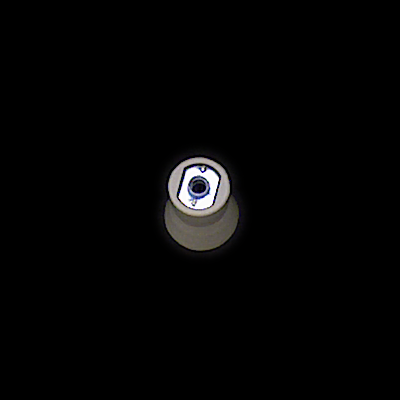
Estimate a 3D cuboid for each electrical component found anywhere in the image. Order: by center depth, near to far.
[{"bbox_3d":[0.000,0.000,0.625,0.044,0.044,0.065,0,-17,1],"label":"electrical component"}]
